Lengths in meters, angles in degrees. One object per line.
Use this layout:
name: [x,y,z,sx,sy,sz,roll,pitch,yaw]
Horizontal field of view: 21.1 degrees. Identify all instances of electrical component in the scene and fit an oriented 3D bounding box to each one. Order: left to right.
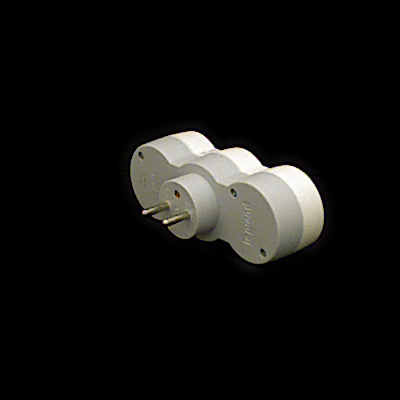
electrical component: [0.000,0.000,0.646,0.074,0.053,0.135,-19,29,-38]
